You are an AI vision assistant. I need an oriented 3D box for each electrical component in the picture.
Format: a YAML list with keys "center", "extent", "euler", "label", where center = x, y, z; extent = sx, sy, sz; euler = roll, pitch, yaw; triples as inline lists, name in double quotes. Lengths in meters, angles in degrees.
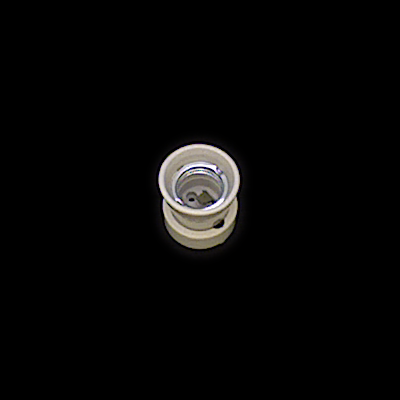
- center: [0.000, 0.000, 0.627]
  extent: [0.045, 0.045, 0.055]
  euler: [0, -27, 1]
  label: "electrical component"
